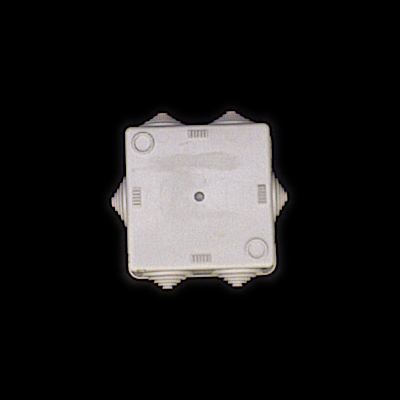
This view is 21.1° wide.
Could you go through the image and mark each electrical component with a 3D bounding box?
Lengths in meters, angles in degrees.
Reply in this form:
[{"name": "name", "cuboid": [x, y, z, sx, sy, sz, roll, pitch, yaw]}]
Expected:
[{"name": "electrical component", "cuboid": [0.000, 0.000, 0.632, 0.100, 0.100, 0.048, -2, -7, 0]}]
